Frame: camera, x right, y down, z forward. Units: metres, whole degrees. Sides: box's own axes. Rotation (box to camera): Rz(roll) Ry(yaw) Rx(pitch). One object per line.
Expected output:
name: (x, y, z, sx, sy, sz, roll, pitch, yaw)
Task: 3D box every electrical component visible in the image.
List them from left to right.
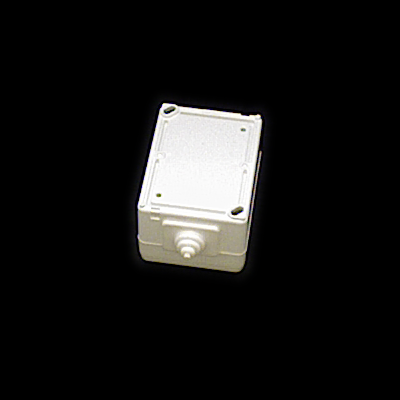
electrical component: (0.000, 0.000, 0.623, 0.062, 0.096, 0.061, 7, -38, 4)
